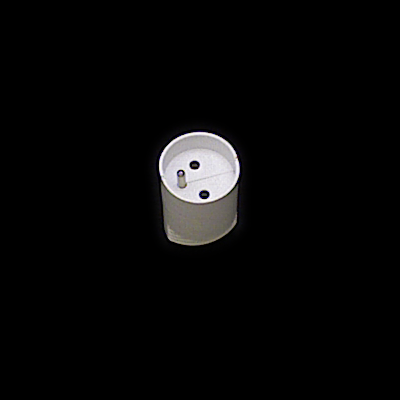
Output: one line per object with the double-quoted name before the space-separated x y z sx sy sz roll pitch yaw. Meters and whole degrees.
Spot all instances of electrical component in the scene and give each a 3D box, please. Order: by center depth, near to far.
"electrical component" 0.000 0.000 0.615 0.043 0.043 0.081 0 -28 1
